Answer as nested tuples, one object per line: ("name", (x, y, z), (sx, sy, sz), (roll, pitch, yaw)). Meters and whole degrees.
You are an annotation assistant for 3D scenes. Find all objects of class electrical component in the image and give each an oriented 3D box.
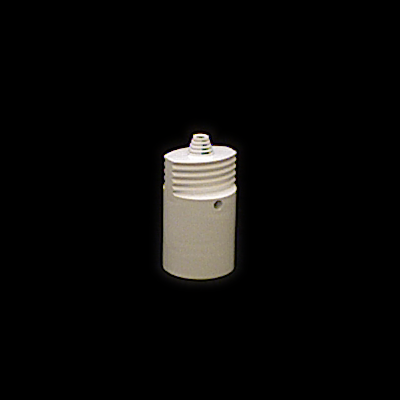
("electrical component", (0.000, 0.000, 0.634), (0.043, 0.082, 0.042), (1, 21, 0))
